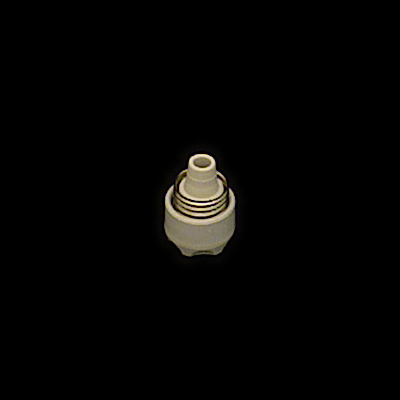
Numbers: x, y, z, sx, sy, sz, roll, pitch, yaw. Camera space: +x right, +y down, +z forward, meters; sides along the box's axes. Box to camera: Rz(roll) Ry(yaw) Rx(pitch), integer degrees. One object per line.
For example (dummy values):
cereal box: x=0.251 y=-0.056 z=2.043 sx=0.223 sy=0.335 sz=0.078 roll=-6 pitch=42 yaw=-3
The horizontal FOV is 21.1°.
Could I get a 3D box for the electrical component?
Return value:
electrical component: x=0.000 y=0.000 z=0.638 sx=0.043 sy=0.062 sz=0.043 roll=1 pitch=43 yaw=-1
